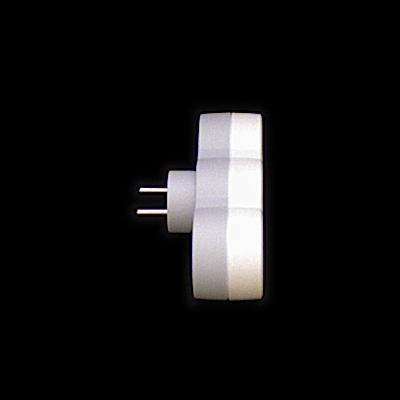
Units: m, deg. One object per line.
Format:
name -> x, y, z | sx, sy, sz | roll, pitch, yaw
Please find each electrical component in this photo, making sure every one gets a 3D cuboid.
electrical component -> 0.000, 0.000, 0.631 | 0.074, 0.052, 0.137 | 0, 43, 2
